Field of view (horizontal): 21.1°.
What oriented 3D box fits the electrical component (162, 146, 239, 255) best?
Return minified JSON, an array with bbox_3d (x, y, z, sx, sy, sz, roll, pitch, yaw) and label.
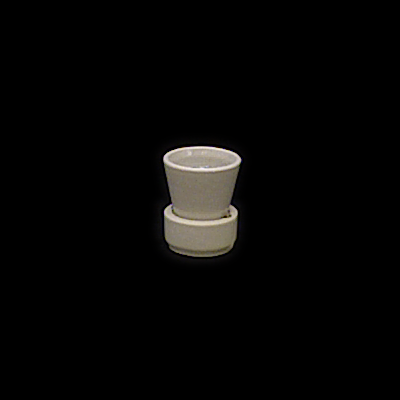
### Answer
[{"bbox_3d":[0.000,0.000,0.641,0.045,0.056,0.044,2,21,0],"label":"electrical component"}]
